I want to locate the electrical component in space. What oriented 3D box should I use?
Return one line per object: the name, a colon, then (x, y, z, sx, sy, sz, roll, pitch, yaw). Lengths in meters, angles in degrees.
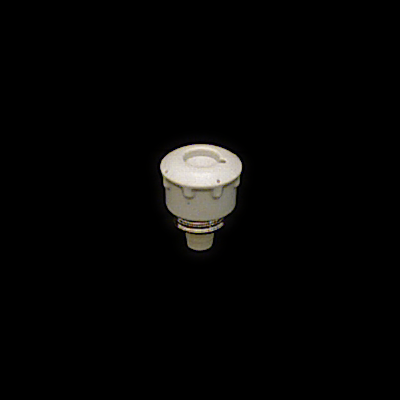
electrical component: (0.000, 0.000, 0.643, 0.048, 0.063, 0.047, 1, 32, 0)
